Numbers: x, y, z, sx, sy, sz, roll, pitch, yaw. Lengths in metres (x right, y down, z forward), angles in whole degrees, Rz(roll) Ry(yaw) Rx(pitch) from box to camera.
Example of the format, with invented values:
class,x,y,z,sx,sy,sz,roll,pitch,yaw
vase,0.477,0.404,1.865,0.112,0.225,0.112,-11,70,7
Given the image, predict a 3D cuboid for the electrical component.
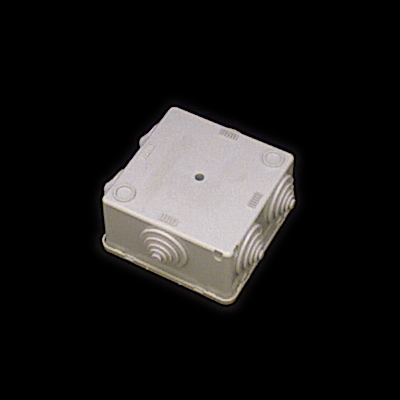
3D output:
class,x,y,z,sx,sy,sz,roll,pitch,yaw
electrical component,0.000,0.000,0.632,0.099,0.100,0.049,23,-34,16
